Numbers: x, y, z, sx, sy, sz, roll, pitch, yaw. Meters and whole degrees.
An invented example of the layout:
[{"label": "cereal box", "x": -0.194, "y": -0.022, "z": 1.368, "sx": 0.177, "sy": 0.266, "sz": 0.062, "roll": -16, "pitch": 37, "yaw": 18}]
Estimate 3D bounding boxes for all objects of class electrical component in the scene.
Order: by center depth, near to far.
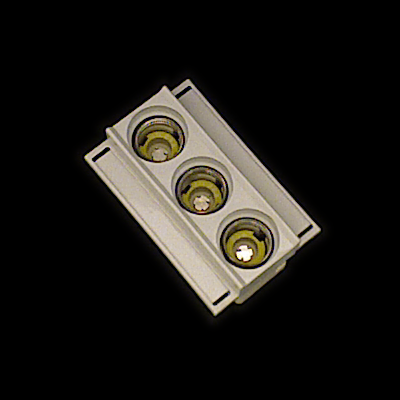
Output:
[{"label": "electrical component", "x": 0.000, "y": 0.000, "z": 0.637, "sx": 0.079, "sy": 0.121, "sz": 0.063, "roll": -38, "pitch": -13, "yaw": -11}]
